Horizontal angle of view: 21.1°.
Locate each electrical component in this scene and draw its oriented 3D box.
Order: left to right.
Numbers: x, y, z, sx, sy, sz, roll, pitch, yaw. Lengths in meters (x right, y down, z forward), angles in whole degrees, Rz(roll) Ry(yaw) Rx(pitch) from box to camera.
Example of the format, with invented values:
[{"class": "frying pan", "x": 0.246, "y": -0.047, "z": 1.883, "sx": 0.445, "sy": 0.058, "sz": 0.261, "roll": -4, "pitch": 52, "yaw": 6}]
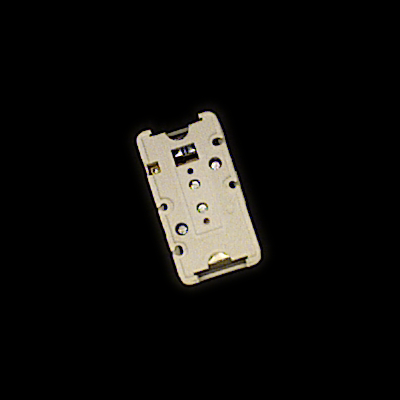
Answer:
[{"class": "electrical component", "x": 0.000, "y": 0.000, "z": 0.637, "sx": 0.050, "sy": 0.090, "sz": 0.055, "roll": -18, "pitch": -6, "yaw": -1}]
